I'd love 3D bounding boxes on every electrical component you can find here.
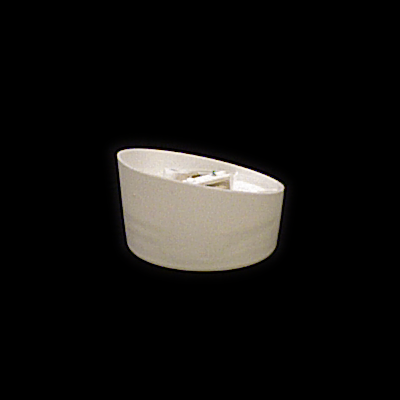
[{"bbox_3d":[0.000,0.000,0.636,0.099,0.065,0.097,1,21,0],"label":"electrical component"}]
